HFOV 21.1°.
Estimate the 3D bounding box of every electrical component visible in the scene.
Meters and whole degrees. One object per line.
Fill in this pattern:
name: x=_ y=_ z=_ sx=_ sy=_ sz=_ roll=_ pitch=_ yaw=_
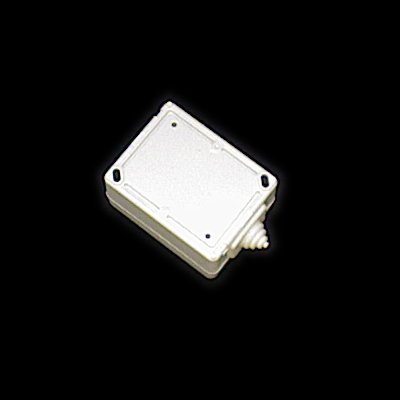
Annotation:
electrical component: x=0.000 y=0.000 z=0.625 sx=0.096 sy=0.062 sz=0.060 roll=36 pitch=-14 yaw=10
